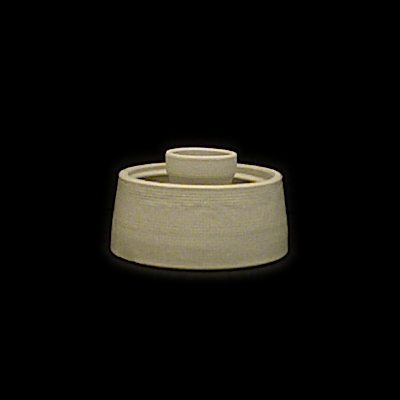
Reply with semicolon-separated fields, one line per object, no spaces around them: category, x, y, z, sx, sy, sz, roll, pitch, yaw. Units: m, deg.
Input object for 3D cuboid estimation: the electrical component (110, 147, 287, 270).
electrical component;0.000;0.000;0.649;0.108;0.061;0.107;2;11;0
